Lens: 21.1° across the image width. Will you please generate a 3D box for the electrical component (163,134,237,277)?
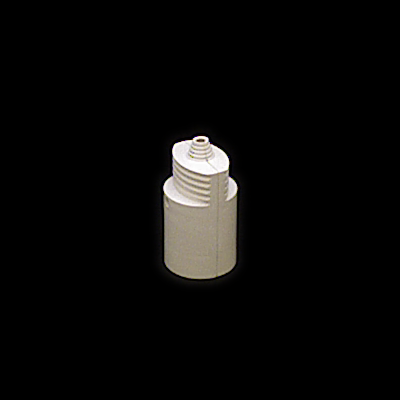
[{"bbox_3d":[0.000,0.000,0.629,0.043,0.082,0.042,1,31,0],"label":"electrical component"}]
